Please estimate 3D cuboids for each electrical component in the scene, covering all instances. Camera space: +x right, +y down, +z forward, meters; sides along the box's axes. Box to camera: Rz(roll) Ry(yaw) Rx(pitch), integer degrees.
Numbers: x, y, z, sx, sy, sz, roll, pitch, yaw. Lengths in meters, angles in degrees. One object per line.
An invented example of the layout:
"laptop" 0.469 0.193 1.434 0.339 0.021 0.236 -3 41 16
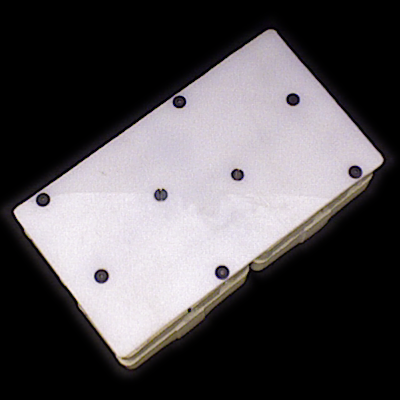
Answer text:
"electrical component" 0.000 0.000 0.625 0.187 0.106 0.060 -36 -14 -10
